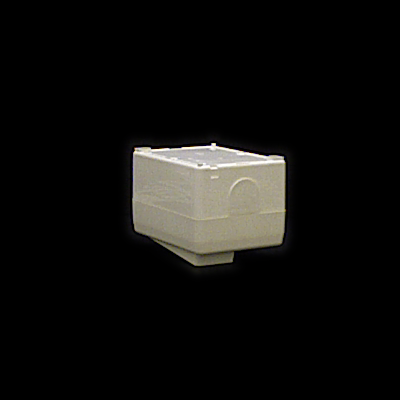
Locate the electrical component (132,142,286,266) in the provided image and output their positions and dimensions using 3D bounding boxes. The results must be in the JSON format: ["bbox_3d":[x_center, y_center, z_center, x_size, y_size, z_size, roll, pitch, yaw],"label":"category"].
[{"bbox_3d":[0.000,0.000,0.650,0.062,0.061,0.095,-6,13,-32],"label":"electrical component"}]
